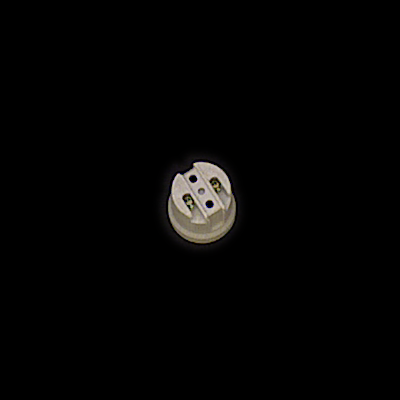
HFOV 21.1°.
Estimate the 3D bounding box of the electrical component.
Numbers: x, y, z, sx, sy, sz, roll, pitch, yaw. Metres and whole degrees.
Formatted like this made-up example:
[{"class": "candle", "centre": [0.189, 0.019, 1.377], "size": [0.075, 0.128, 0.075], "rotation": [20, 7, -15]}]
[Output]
[{"class": "electrical component", "centre": [0.000, 0.000, 0.633], "size": [0.040, 0.040, 0.046], "rotation": [0, -17, 1]}]
